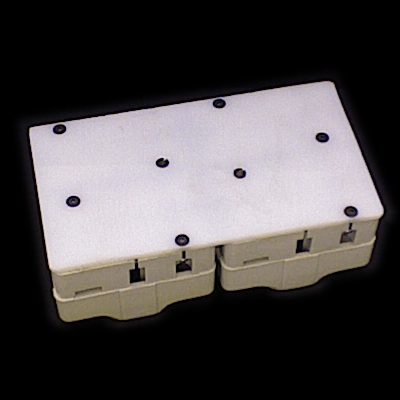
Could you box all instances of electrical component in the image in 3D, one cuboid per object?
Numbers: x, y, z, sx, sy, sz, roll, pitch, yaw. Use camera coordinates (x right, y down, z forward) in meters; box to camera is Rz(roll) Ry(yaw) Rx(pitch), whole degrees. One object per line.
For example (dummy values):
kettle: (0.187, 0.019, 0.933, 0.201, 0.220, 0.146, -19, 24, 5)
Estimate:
electrical component: (0.000, 0.000, 0.627, 0.186, 0.105, 0.060, -10, -37, -8)
